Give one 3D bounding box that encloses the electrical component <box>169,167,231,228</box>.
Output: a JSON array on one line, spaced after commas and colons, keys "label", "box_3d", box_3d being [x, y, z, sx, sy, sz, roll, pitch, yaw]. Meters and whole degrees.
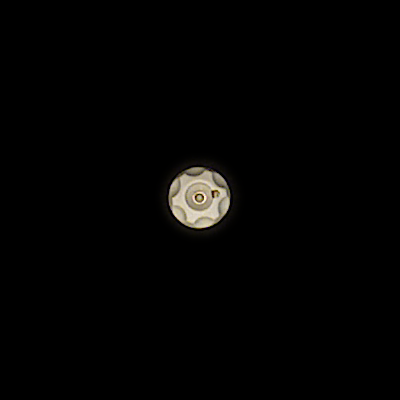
[{"label": "electrical component", "box_3d": [0.000, 0.000, 0.634, 0.035, 0.035, 0.061, 0, -5, 0]}]
